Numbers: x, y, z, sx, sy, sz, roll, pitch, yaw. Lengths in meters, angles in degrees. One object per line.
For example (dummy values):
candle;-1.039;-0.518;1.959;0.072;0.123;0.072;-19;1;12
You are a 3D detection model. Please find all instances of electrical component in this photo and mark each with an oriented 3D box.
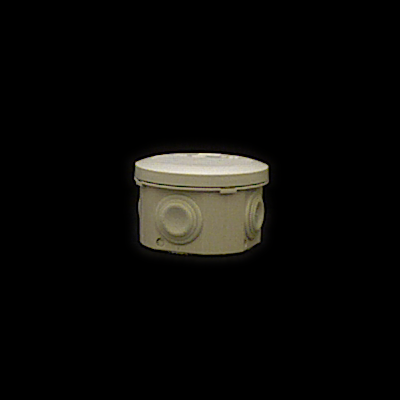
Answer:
electrical component;0.000;0.000;0.645;0.080;0.051;0.079;1;11;0
